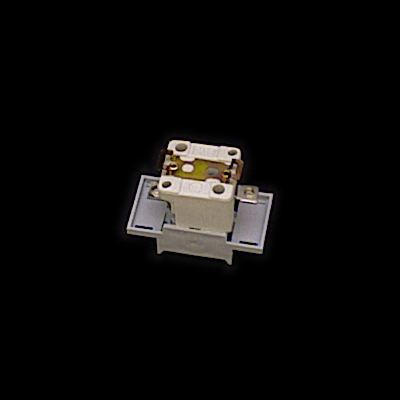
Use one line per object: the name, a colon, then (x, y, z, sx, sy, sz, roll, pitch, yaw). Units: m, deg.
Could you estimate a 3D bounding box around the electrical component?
electrical component: (0.000, 0.000, 0.627, 0.081, 0.042, 0.064, 8, -37, 6)
